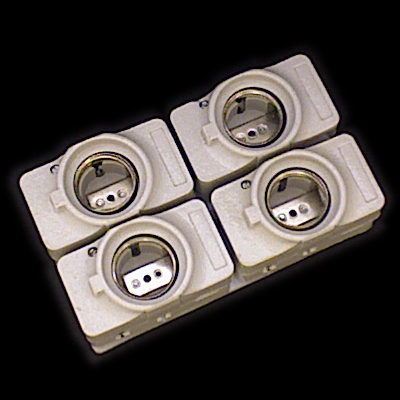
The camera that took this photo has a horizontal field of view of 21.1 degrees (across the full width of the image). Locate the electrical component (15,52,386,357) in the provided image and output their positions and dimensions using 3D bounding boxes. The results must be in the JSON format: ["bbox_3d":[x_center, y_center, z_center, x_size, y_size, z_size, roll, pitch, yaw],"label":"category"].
[{"bbox_3d":[0.000,0.000,0.625,0.187,0.106,0.060,-24,-16,-7],"label":"electrical component"}]
